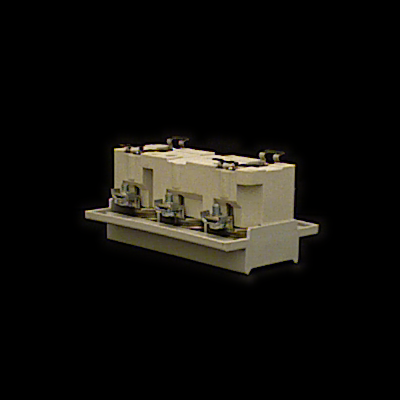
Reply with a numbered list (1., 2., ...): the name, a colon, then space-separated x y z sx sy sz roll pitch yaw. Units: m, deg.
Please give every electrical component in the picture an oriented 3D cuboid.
1. electrical component: 0.000 0.000 0.648 0.120 0.063 0.079 11 16 44
